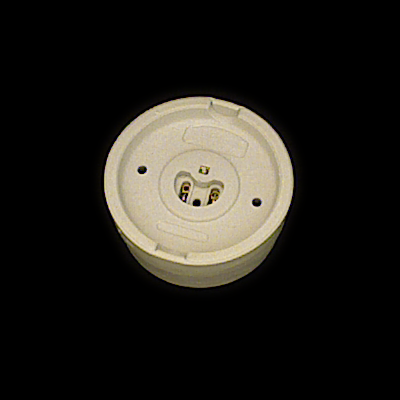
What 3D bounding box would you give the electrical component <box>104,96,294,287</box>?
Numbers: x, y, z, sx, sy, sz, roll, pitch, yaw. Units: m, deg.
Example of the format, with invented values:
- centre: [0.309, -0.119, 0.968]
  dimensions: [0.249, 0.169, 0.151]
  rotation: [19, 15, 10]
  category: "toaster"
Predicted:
- centre: [0.000, 0.000, 0.636]
  dimensions: [0.108, 0.108, 0.060]
  rotation: [0, -26, 0]
  category: "electrical component"
